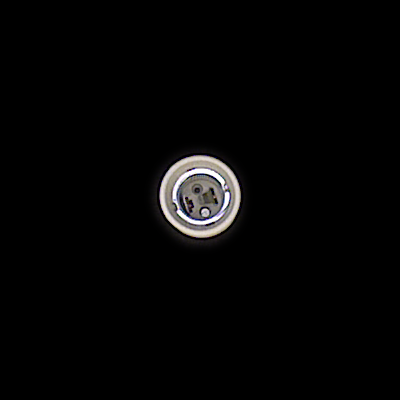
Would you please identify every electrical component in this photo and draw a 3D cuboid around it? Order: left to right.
[{"bbox_3d":[0.000,0.000,0.629,0.045,0.045,0.055,0,-6,1],"label":"electrical component"}]
